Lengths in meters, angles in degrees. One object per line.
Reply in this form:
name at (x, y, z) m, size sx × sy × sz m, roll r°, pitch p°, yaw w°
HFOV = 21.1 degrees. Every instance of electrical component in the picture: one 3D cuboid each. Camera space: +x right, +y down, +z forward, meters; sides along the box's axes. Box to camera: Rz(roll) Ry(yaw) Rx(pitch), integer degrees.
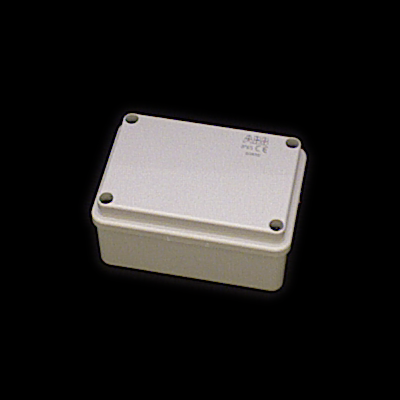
electrical component at (0.000, 0.000, 0.630) m, size 0.113 × 0.078 × 0.057 m, roll 9°, pitch -37°, yaw 6°
